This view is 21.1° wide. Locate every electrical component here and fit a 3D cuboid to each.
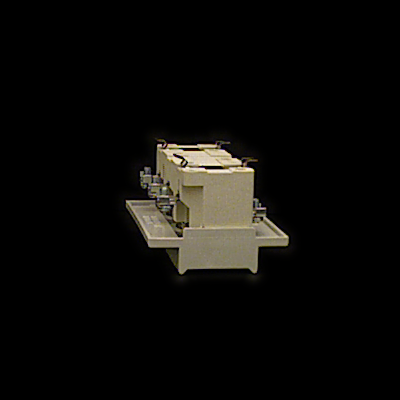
[{"bbox_3d":[0.000,0.000,0.653,0.079,0.063,0.120,0,11,-10],"label":"electrical component"}]
